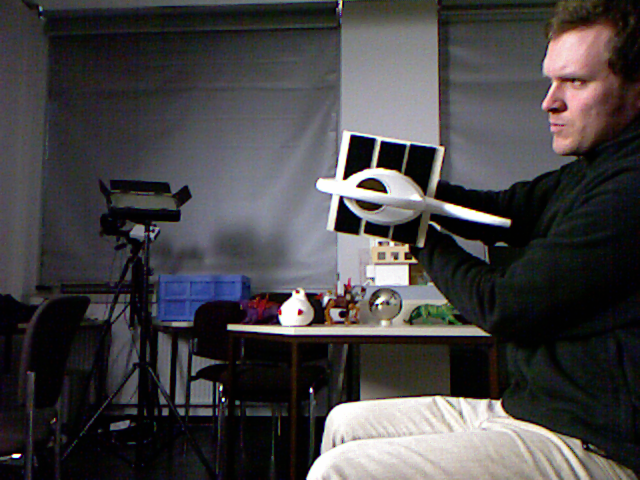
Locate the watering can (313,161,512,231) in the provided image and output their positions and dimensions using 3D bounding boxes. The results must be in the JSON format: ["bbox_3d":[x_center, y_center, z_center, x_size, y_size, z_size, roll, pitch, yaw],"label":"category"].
[{"bbox_3d":[0.161,-0.077,0.964,0.350,0.103,0.228,13,13,2],"label":"watering can"}]
